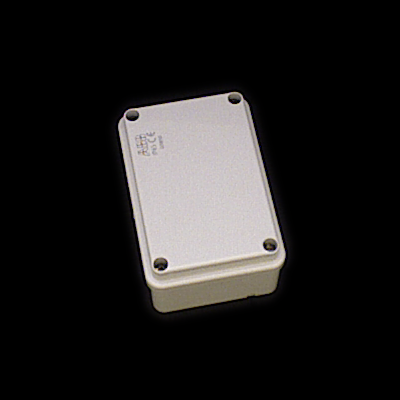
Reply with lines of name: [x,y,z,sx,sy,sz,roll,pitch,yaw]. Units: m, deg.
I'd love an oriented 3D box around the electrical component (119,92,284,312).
electrical component: [0.000,0.000,0.627,0.078,0.113,0.057,-10,-26,-5]
